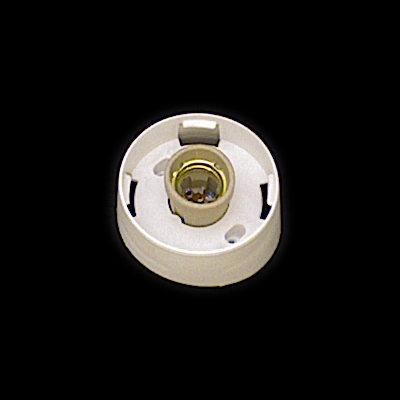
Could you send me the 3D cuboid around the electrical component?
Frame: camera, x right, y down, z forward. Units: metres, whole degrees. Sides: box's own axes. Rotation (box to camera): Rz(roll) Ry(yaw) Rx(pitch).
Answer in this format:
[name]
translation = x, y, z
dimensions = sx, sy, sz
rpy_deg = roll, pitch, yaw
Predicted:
[electrical component]
translation = 0.000, 0.000, 0.625
dimensions = 0.099, 0.099, 0.064
rpy_deg = 0, -27, 0
